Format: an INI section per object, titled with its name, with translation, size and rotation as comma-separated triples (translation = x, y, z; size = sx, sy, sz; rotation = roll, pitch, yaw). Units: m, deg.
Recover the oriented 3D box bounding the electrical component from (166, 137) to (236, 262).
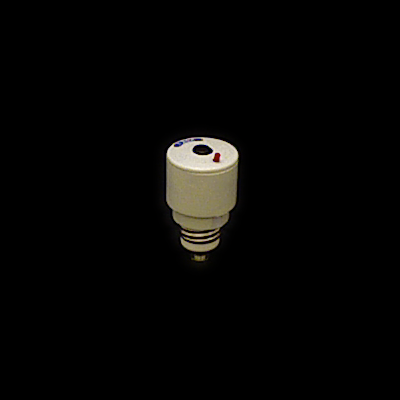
[electrical component]
translation = 0.000, 0.000, 0.627
size = 0.040, 0.079, 0.039
rotation = 1, 31, 0
